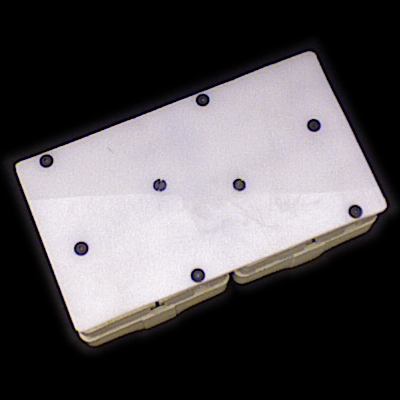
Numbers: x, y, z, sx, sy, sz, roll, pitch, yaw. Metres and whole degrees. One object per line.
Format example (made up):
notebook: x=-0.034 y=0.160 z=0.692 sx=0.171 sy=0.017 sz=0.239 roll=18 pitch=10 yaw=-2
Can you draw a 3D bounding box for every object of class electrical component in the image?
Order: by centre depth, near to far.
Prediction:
electrical component: x=0.000 y=0.000 z=0.625 sx=0.186 sy=0.106 sz=0.060 roll=-22 pitch=-16 yaw=-7
